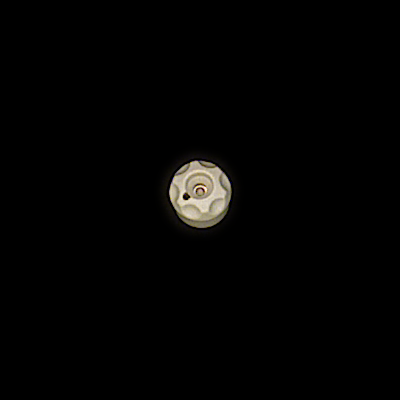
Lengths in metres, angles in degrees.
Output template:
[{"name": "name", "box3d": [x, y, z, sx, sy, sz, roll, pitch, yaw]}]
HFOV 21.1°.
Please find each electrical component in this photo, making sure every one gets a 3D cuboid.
[{"name": "electrical component", "box3d": [0.000, 0.000, 0.633, 0.035, 0.035, 0.061, 0, -16, 1]}]
